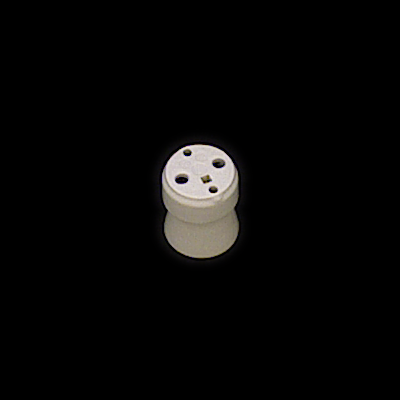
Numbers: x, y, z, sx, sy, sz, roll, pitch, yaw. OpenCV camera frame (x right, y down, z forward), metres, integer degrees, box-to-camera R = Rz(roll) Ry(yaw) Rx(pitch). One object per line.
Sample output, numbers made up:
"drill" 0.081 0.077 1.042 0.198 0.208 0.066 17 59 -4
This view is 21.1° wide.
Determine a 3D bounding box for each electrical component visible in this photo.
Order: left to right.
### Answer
"electrical component" 0.000 0.000 0.629 0.045 0.044 0.055 0 -38 0
